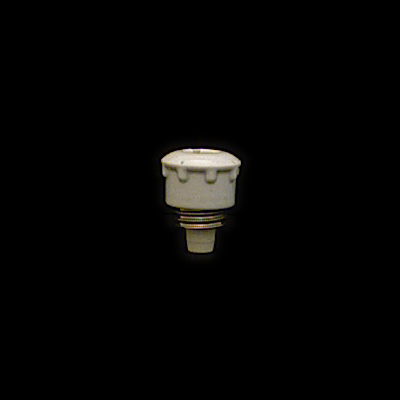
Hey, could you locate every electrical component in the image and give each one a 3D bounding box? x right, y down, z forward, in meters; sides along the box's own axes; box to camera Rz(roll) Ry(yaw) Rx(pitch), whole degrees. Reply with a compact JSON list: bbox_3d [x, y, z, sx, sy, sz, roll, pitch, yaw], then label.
[{"bbox_3d":[0.000,0.000,0.650,0.048,0.062,0.048,1,11,0],"label":"electrical component"}]
